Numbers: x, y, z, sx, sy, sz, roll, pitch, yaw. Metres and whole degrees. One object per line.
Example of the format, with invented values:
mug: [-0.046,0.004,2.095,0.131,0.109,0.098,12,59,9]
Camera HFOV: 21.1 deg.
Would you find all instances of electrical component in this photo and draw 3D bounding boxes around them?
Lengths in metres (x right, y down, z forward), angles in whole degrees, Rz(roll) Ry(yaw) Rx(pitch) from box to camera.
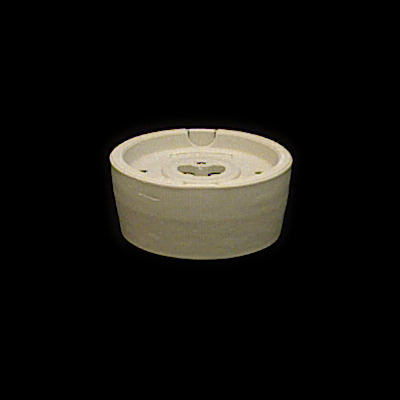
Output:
electrical component: [0.000,0.000,0.649,0.108,0.061,0.106,1,22,0]
